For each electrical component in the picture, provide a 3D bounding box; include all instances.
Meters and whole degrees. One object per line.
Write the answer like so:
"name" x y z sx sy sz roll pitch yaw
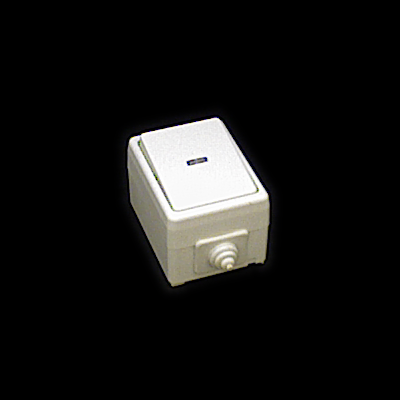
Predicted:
"electrical component" 0.000 0.000 0.628 0.062 0.061 0.095 -14 44 -15
